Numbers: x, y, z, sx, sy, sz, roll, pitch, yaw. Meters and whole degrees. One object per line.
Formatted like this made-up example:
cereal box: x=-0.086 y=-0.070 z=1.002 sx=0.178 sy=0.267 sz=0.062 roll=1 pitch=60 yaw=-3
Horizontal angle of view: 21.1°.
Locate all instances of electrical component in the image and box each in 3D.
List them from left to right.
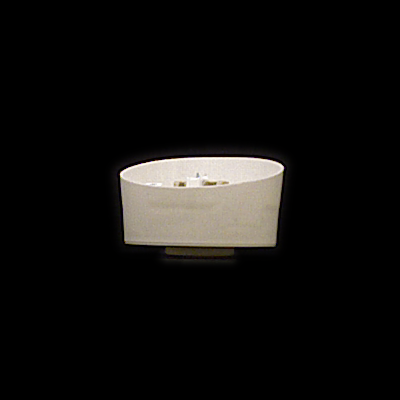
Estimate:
electrical component: x=0.000 y=0.000 z=0.651 sx=0.099 sy=0.064 sz=0.099 roll=1 pitch=-1 yaw=0
